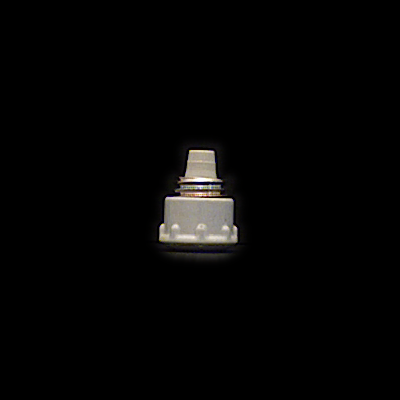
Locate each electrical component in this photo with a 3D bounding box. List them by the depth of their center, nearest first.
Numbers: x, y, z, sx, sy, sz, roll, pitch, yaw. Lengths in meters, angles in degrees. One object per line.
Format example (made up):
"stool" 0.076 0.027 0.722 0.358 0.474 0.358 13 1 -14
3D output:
"electrical component" 0.000 0.000 0.656 0.048 0.062 0.048 2 2 0
